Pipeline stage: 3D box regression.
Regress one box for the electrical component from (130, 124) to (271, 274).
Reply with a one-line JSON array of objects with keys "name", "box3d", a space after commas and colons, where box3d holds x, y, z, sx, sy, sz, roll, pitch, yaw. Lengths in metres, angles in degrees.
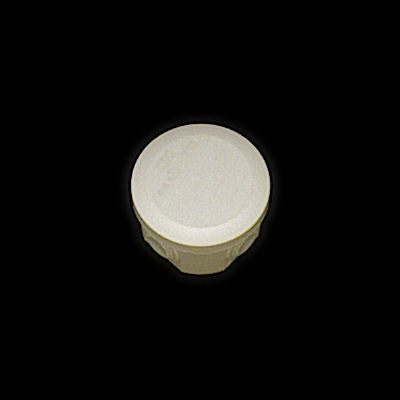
[{"name": "electrical component", "box3d": [0.000, 0.000, 0.631, 0.080, 0.080, 0.050, 0, -27, -1]}]
